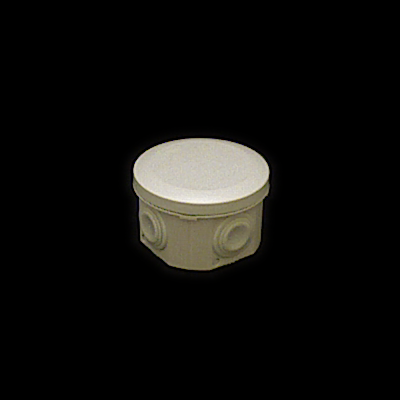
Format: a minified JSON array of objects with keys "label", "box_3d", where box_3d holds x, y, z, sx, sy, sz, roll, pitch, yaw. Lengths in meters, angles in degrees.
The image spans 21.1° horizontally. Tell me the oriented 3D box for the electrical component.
[{"label":"electrical component","box_3d":[0.000,0.000,0.638,0.080,0.051,0.079,1,31,0]}]
